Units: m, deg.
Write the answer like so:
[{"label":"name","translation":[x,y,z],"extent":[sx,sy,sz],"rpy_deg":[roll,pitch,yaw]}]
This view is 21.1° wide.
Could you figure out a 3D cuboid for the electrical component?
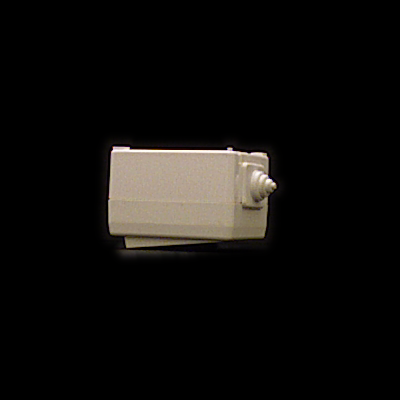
[{"label":"electrical component","translation":[0.000,0.000,0.647],"extent":[0.096,0.061,0.062],"rpy_deg":[2,1,24]}]
